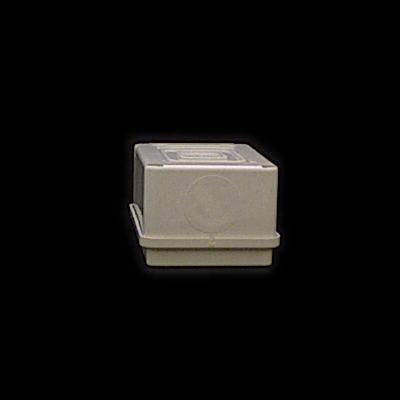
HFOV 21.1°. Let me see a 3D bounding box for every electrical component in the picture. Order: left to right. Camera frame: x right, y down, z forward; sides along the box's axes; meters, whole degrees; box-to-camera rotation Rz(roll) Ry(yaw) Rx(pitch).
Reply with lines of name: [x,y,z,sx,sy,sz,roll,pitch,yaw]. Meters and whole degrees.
electrical component: [0.000,0.000,0.644,0.078,0.057,0.112,0,11,-7]
